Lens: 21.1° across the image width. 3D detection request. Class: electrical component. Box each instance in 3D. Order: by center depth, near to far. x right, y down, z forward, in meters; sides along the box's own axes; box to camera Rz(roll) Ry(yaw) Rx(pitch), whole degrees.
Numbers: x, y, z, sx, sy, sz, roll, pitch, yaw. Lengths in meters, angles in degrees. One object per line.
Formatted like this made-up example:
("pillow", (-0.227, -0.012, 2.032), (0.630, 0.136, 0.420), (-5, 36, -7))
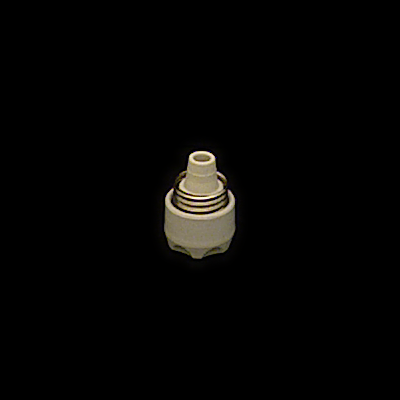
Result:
("electrical component", (0.000, 0.000, 0.641), (0.043, 0.063, 0.043), (1, 33, 0))
